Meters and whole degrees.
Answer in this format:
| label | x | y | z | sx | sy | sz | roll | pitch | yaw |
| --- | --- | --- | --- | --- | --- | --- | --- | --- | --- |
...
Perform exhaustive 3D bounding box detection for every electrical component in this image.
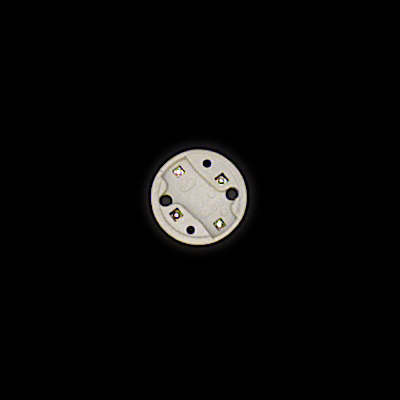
| label | x | y | z | sx | sy | sz | roll | pitch | yaw |
| --- | --- | --- | --- | --- | --- | --- | --- | --- | --- |
| electrical component | 0.000 | 0.000 | 0.636 | 0.055 | 0.055 | 0.047 | 0 | -7 | 0 |
